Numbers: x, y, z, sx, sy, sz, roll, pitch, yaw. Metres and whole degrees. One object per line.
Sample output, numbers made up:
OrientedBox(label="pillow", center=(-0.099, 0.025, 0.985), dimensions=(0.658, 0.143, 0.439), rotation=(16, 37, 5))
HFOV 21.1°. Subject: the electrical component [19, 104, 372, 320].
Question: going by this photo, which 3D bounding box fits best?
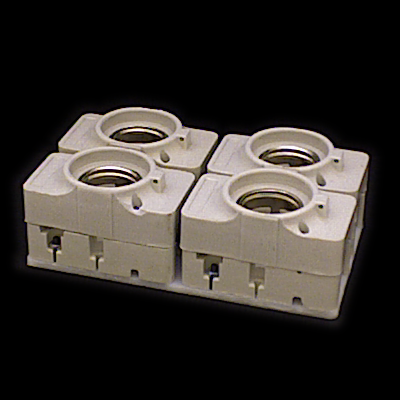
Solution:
OrientedBox(label="electrical component", center=(0.000, 0.000, 0.635), dimensions=(0.186, 0.061, 0.104), rotation=(9, 32, 13))
